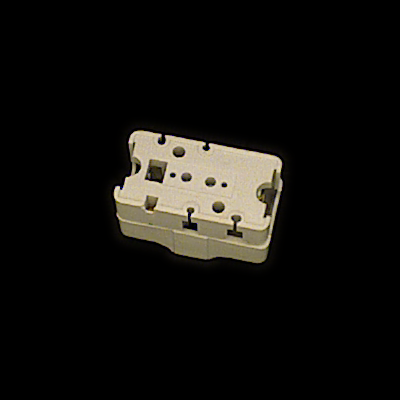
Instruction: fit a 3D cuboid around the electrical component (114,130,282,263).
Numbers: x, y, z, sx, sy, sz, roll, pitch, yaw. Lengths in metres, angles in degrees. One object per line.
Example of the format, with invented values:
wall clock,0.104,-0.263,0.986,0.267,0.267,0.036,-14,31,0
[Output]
electrical component,0.000,0.000,0.636,0.089,0.050,0.055,11,-25,6
